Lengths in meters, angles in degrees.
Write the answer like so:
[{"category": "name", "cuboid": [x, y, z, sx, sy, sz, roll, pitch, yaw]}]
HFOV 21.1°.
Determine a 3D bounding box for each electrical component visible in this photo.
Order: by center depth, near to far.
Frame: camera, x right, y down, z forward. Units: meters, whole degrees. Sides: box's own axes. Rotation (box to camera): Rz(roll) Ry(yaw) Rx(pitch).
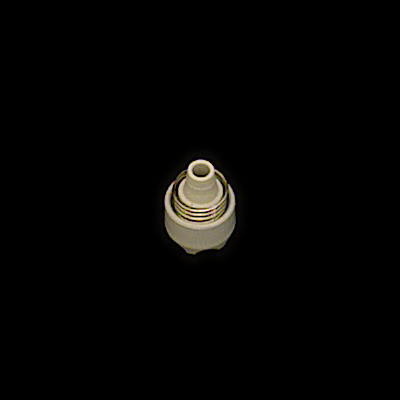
[{"category": "electrical component", "cuboid": [0.000, 0.000, 0.635, 0.043, 0.043, 0.062, 0, -36, -1]}]
